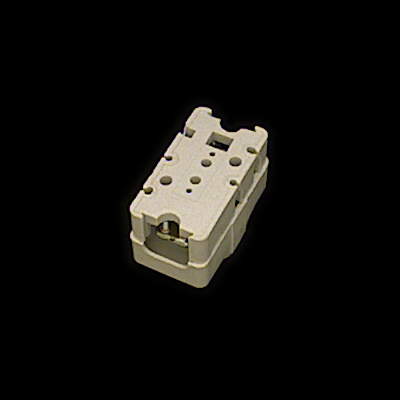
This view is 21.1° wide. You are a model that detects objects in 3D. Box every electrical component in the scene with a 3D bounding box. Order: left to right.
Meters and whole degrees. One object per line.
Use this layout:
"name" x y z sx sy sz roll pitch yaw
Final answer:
"electrical component" 0.000 0.000 0.637 0.050 0.090 0.056 21 -35 16
